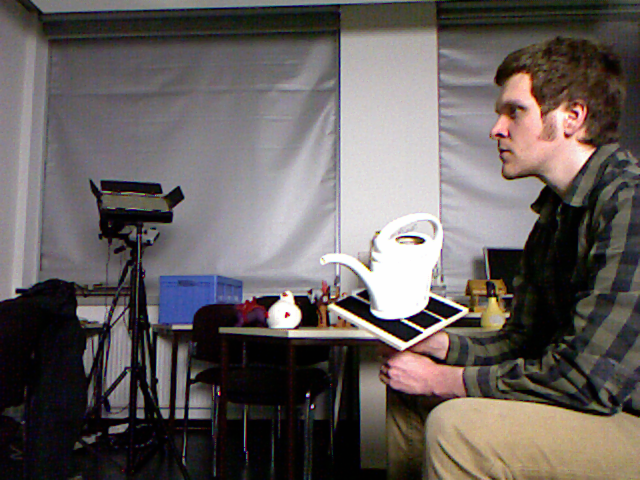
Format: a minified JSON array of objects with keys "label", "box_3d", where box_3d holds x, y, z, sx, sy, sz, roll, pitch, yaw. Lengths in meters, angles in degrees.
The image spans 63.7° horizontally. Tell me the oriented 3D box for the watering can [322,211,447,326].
[{"label":"watering can","box_3d":[0.130,0.066,0.994,0.351,0.221,0.105,-20,30,-38]}]
